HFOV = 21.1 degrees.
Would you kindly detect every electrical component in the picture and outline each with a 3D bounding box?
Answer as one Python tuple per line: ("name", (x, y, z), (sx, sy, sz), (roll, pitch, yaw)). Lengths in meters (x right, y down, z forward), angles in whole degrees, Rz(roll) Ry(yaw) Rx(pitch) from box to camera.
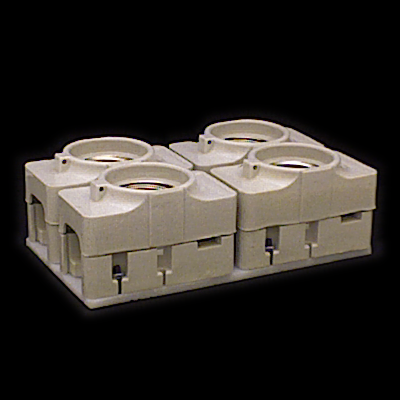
("electrical component", (0.000, 0.000, 0.637), (0.186, 0.061, 0.104), (-9, 23, -26))
